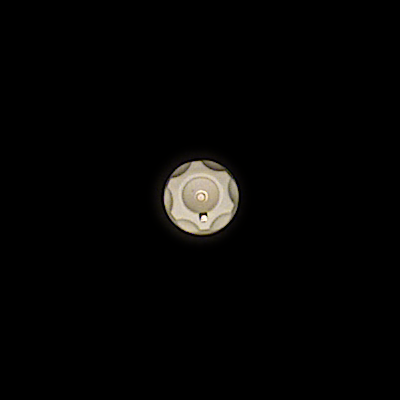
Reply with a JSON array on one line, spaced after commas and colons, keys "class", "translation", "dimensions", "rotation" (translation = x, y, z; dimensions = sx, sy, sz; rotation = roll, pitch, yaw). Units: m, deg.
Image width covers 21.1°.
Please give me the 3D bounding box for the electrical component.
[{"class": "electrical component", "translation": [0.000, 0.000, 0.635], "dimensions": [0.043, 0.043, 0.062], "rotation": [0, -6, 2]}]
